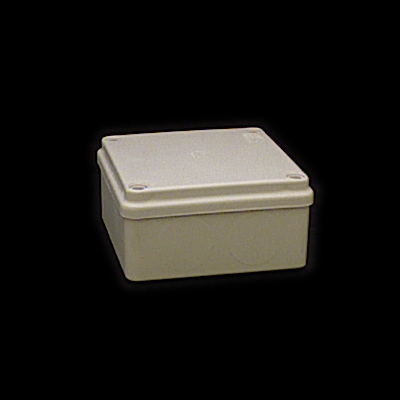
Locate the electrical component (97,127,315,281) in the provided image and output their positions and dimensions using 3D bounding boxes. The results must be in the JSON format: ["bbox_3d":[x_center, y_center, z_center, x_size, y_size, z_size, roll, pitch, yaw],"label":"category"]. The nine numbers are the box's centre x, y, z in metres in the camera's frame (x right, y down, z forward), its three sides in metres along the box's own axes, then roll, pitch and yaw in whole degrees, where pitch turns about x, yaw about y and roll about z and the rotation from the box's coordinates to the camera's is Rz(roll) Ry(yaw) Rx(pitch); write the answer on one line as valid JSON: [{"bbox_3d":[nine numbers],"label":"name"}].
[{"bbox_3d":[0.000,0.000,0.638,0.109,0.057,0.107,-4,21,-13],"label":"electrical component"}]
